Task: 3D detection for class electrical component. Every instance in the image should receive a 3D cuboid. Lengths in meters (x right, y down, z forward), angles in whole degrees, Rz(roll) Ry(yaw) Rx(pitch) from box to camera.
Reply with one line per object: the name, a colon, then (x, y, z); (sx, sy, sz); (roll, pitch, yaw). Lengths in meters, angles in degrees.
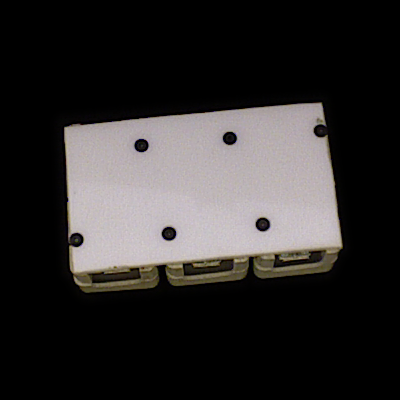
electrical component: (0.000, 0.000, 0.630); (0.150, 0.089, 0.062); (-5, -17, -1)
